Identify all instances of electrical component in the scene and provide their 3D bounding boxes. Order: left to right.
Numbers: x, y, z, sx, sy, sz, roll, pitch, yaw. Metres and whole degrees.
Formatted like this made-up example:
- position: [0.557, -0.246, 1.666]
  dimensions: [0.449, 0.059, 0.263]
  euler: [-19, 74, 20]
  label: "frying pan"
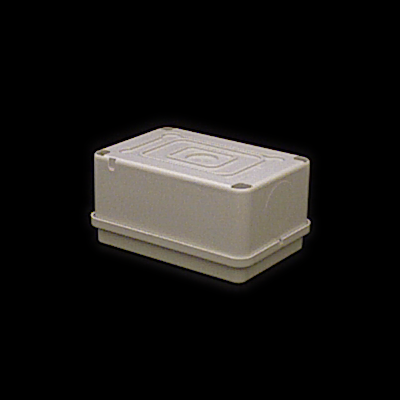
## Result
- position: [0.000, 0.000, 0.639]
  dimensions: [0.112, 0.058, 0.078]
  euler: [16, 25, 32]
  label: "electrical component"
